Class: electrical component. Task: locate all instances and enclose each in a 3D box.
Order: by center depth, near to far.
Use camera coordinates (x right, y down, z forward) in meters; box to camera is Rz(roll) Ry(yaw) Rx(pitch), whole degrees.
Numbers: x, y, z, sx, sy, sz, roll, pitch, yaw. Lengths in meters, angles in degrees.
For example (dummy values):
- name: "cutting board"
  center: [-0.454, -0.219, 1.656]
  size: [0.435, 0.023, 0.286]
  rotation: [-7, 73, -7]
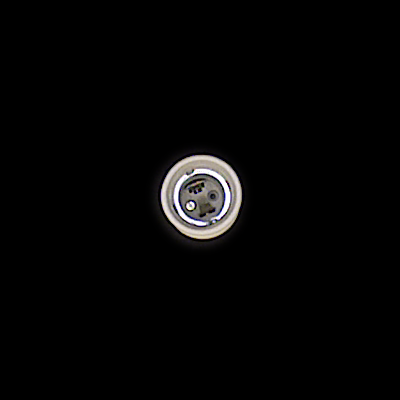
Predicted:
- name: "electrical component"
  center: [0.000, 0.000, 0.629]
  size: [0.045, 0.045, 0.055]
  rotation: [0, -7, 1]
